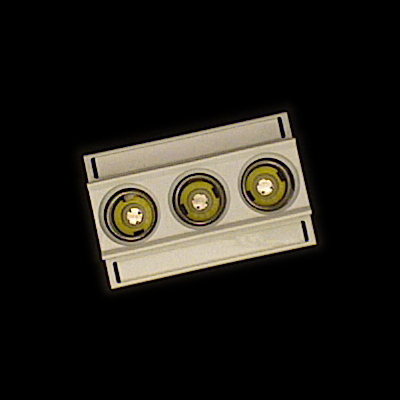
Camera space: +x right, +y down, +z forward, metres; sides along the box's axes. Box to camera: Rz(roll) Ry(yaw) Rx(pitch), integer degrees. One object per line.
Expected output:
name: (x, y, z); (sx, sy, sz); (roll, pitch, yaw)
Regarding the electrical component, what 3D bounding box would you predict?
electrical component: (0.000, 0.000, 0.637); (0.121, 0.079, 0.063); (-12, -4, -1)
